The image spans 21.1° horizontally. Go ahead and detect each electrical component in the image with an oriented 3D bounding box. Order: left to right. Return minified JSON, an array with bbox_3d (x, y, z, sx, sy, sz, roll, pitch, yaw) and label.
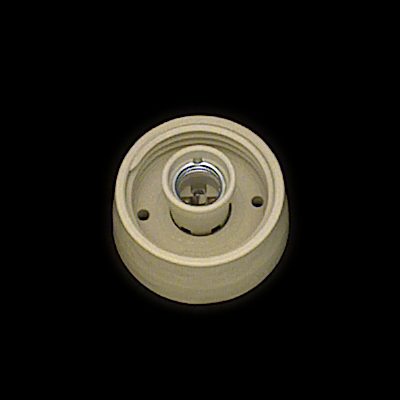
[{"bbox_3d":[0.000,0.000,0.634,0.108,0.108,0.060,0,-26,0],"label":"electrical component"}]
